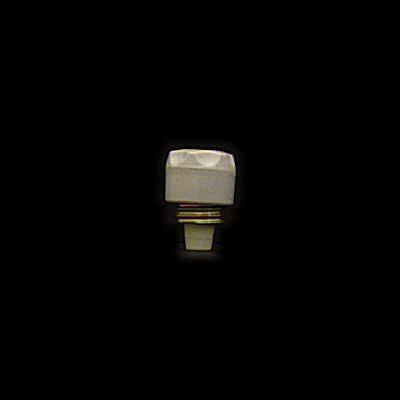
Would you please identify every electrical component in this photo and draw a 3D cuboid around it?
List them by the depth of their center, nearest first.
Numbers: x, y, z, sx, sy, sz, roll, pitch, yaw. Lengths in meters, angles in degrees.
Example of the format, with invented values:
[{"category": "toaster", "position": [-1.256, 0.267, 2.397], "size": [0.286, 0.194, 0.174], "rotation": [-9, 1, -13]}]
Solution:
[{"category": "electrical component", "position": [0.000, 0.000, 0.656], "size": [0.043, 0.062, 0.043], "rotation": [2, 2, 0]}]
